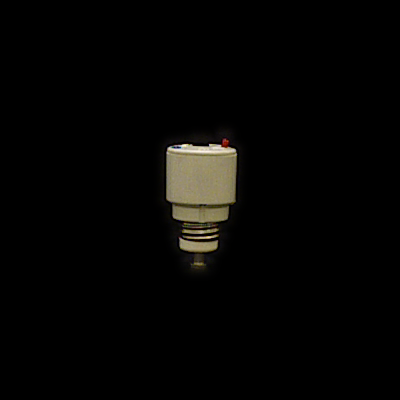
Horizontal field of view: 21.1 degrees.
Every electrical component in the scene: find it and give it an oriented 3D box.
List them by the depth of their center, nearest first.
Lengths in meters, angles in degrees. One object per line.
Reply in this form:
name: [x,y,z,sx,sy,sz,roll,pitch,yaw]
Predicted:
electrical component: [0.000,0.000,0.642,0.040,0.079,0.040,2,11,0]
